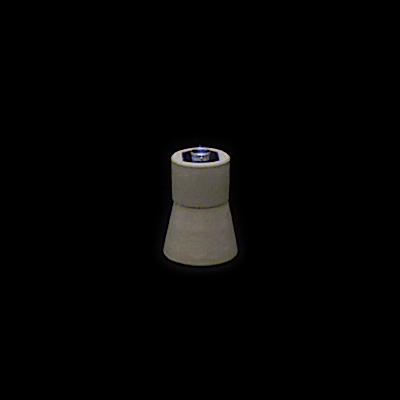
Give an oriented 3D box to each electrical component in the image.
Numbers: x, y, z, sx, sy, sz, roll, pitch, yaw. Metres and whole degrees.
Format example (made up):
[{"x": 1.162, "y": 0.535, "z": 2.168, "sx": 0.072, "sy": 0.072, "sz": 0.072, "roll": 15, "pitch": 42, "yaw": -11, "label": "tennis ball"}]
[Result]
[{"x": 0.000, "y": 0.000, "z": 0.638, "sx": 0.044, "sy": 0.066, "sz": 0.044, "roll": 0, "pitch": 22, "yaw": 0, "label": "electrical component"}]
